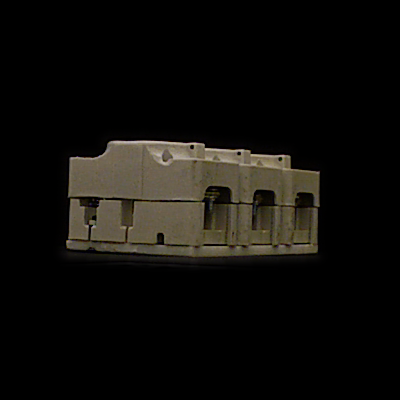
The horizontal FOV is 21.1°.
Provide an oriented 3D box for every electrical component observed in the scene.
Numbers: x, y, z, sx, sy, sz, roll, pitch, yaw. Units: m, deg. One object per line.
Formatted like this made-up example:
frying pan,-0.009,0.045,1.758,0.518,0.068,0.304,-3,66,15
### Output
electrical component,0.000,0.000,0.657,0.089,0.062,0.150,2,0,32
